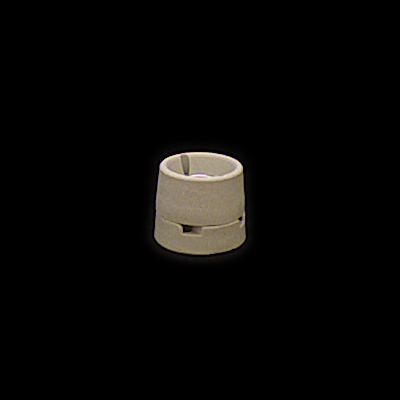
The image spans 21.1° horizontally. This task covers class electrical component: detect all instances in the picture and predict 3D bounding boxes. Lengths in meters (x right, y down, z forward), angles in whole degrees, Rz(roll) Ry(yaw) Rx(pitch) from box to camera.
[{"bbox_3d":[0.000,0.000,0.640,0.055,0.047,0.055,1,22,0],"label":"electrical component"}]
